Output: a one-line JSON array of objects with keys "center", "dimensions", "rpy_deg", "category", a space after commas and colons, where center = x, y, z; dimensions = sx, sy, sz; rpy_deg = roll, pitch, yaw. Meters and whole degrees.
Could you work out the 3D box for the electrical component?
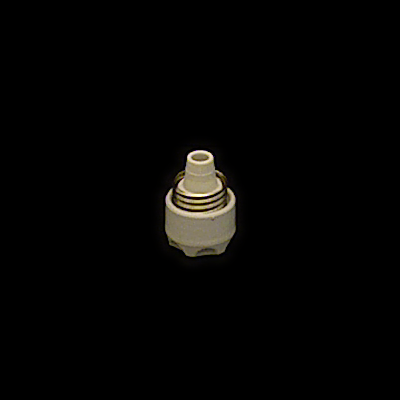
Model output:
[{"center": [0.000, 0.000, 0.640], "dimensions": [0.043, 0.063, 0.043], "rpy_deg": [0, 33, 0], "category": "electrical component"}]
